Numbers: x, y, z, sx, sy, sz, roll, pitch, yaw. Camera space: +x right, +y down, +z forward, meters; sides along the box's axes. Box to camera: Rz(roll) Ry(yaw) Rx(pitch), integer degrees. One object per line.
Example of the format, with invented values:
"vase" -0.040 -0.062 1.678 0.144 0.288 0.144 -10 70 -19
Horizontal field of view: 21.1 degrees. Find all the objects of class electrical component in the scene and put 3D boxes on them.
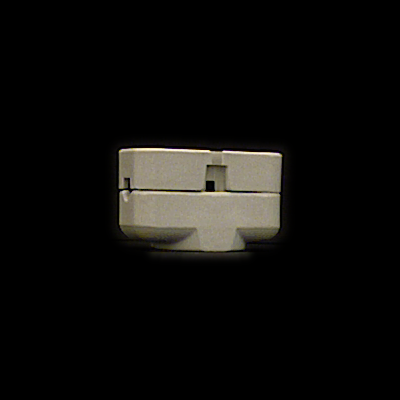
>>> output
"electrical component" 0.000 0.000 0.658 0.096 0.059 0.053 1 1 -23
